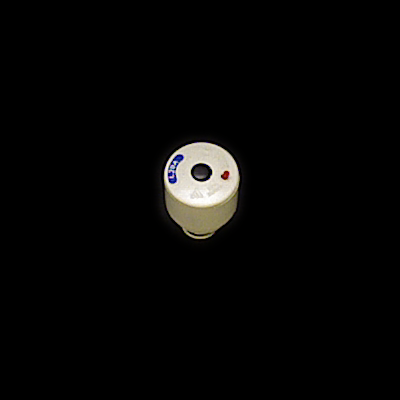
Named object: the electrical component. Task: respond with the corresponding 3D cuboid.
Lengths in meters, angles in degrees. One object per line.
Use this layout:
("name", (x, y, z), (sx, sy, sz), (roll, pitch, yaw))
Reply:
("electrical component", (0.000, 0.000, 0.617), (0.040, 0.040, 0.078), (0, -27, -1))
